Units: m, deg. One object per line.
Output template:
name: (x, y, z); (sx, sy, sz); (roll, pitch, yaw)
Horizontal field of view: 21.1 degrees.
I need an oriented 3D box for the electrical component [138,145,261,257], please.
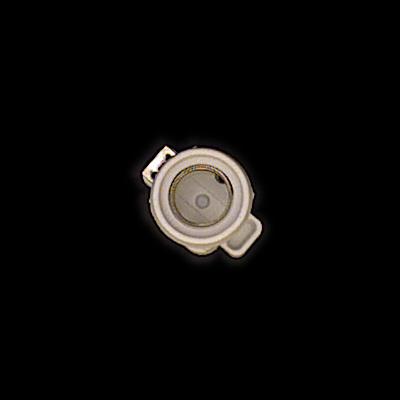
electrical component: (0.000, 0.000, 0.630); (0.078, 0.058, 0.056); (40, -4, 4)
